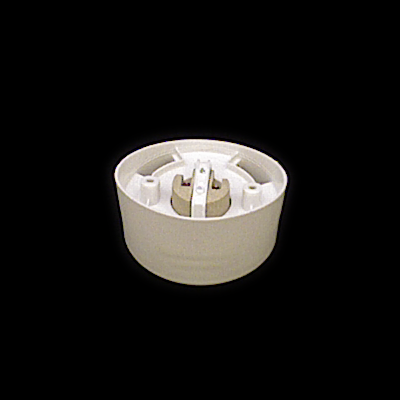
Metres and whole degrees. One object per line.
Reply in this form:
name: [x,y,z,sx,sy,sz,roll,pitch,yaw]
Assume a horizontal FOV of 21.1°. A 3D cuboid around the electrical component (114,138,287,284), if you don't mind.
electrical component: [0.000,0.000,0.628,0.099,0.065,0.098,1,43,-1]
